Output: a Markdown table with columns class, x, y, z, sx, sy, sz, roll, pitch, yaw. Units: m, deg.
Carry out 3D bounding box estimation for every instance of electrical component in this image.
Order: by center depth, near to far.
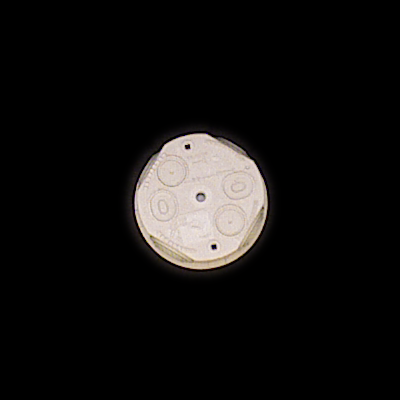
| class | x | y | z | sx | sy | sz | roll | pitch | yaw |
| --- | --- | --- | --- | --- | --- | --- | --- | --- | --- |
| electrical component | 0.000 | 0.000 | 0.633 | 0.080 | 0.080 | 0.050 | 0 | -6 | 0 |
